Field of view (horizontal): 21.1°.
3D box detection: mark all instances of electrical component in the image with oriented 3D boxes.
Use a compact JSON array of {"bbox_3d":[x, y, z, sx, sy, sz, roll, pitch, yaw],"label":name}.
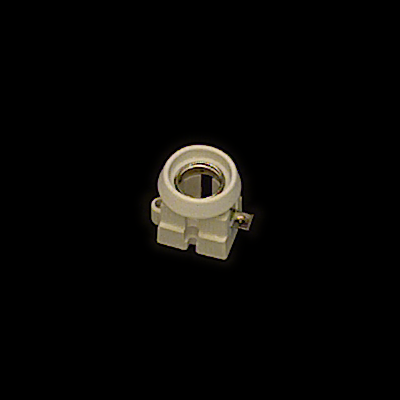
[{"bbox_3d":[0.000,0.000,0.638,0.066,0.048,0.056,13,-34,9],"label":"electrical component"}]
